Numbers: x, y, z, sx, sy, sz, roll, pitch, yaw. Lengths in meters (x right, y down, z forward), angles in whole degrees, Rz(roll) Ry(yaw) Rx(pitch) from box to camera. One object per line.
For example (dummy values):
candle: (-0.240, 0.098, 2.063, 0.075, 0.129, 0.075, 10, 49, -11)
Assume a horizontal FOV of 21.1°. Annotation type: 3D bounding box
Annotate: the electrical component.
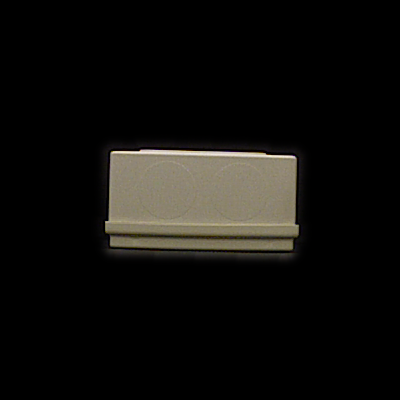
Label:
electrical component: (0.000, 0.000, 0.649, 0.109, 0.056, 0.108, 1, 0, -2)
